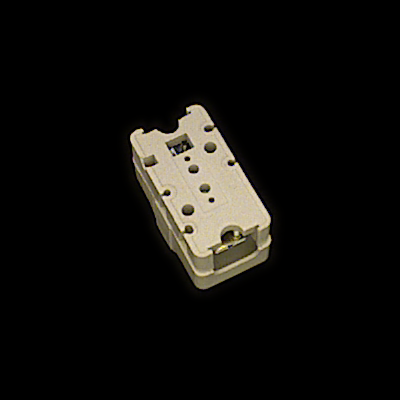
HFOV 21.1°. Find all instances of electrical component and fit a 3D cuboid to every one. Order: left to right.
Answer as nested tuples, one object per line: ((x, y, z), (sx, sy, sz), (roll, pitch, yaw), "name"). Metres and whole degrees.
((0.000, 0.000, 0.636), (0.050, 0.089, 0.055), (-25, -24, -11), "electrical component")
